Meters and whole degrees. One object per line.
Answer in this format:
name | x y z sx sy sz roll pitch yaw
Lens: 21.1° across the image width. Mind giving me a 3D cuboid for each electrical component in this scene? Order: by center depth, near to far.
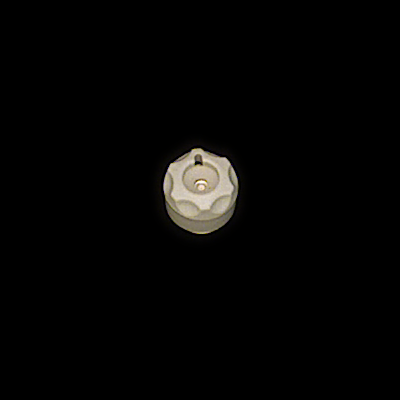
electrical component | 0.000 0.000 0.633 0.043 0.043 0.062 0 -26 0
